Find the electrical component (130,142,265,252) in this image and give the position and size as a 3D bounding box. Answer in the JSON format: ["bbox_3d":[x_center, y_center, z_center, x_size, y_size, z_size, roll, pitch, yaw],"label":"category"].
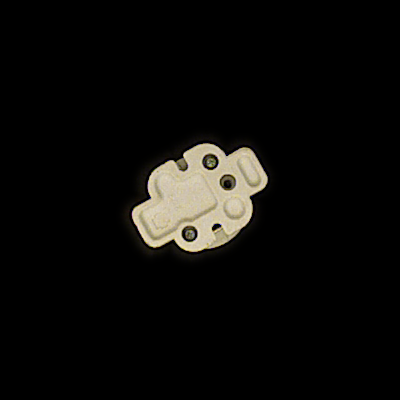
[{"bbox_3d":[0.000,0.000,0.637,0.078,0.058,0.057,-30,-4,-1],"label":"electrical component"}]
